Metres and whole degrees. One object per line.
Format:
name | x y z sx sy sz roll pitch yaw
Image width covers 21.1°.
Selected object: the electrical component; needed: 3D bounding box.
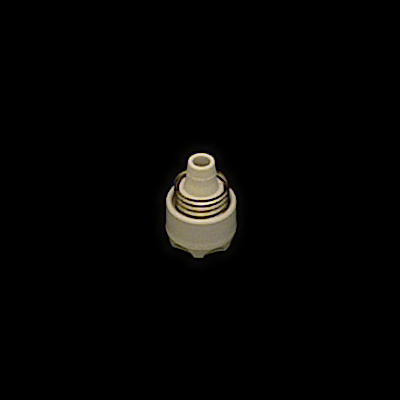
electrical component | 0.000 0.000 0.638 0.043 0.062 0.043 1 41 0
